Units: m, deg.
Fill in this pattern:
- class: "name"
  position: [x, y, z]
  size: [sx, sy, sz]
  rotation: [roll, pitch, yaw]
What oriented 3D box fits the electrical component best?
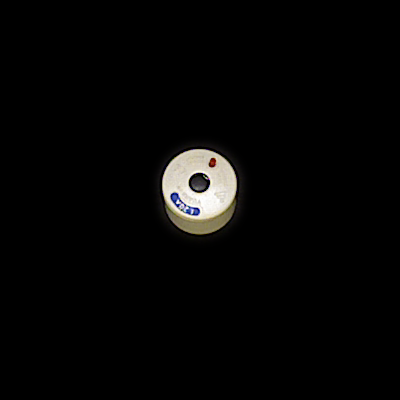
- class: "electrical component"
  position: [0.000, 0.000, 0.618]
  size: [0.040, 0.040, 0.078]
  rotation: [0, -17, 0]
